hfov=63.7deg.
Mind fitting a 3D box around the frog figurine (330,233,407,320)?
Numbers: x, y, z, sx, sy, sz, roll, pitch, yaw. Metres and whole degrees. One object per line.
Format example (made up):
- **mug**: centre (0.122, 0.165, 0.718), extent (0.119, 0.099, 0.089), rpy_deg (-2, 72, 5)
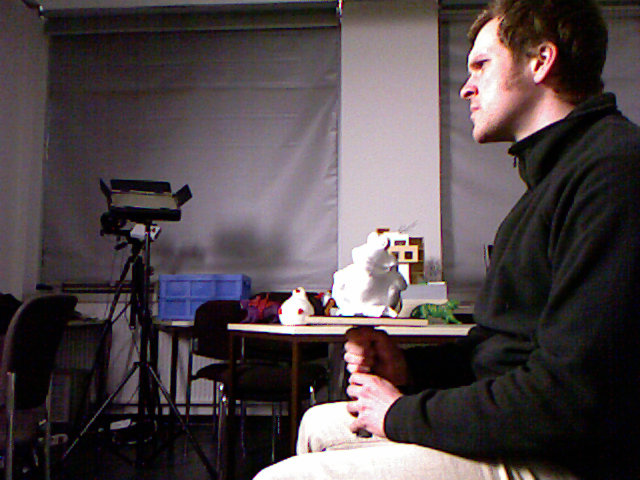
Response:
- **frog figurine**: centre (0.088, 0.067, 0.944), extent (0.137, 0.160, 0.122), rpy_deg (0, -6, 22)
